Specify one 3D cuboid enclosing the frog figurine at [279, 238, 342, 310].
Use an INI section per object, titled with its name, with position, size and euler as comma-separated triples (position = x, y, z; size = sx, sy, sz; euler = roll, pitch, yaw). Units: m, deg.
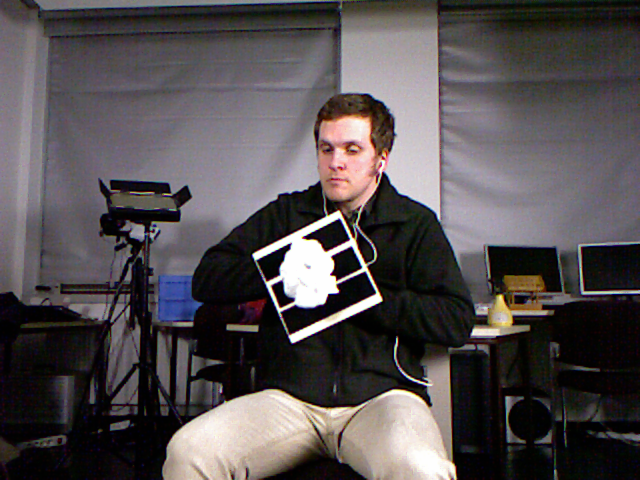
[frog figurine]
position = -0.027, 0.063, 0.970
size = 0.123, 0.139, 0.159
euler = -5, -6, 12
